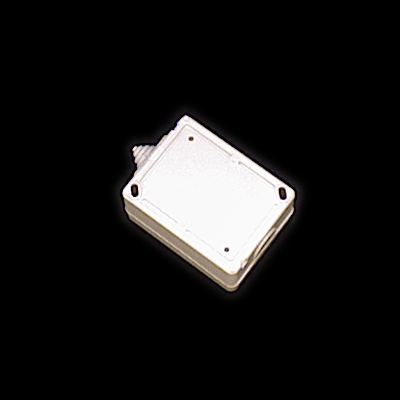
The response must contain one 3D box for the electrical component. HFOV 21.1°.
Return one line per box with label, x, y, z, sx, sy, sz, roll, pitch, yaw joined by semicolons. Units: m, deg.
electrical component;0.000;0.000;0.629;0.096;0.062;0.060;36;-14;11
